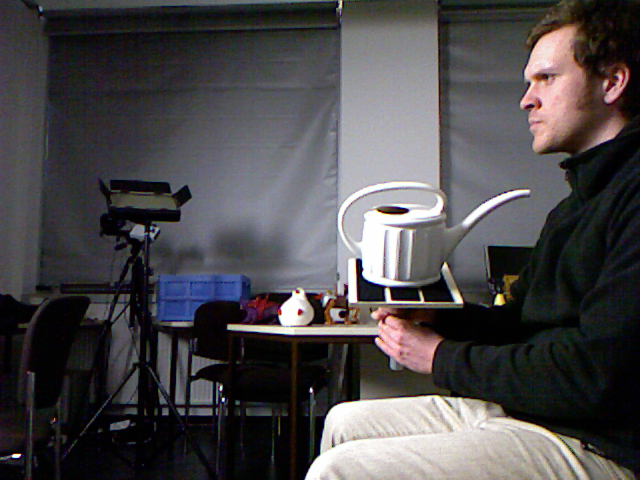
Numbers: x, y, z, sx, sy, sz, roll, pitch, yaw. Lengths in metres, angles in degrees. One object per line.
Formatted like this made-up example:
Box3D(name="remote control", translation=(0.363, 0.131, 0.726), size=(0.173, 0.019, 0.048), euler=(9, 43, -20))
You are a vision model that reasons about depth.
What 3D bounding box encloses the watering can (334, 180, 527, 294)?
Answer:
Box3D(name="watering can", translation=(0.201, -0.005, 0.971), size=(0.348, 0.221, 0.106), euler=(1, 25, 3))
